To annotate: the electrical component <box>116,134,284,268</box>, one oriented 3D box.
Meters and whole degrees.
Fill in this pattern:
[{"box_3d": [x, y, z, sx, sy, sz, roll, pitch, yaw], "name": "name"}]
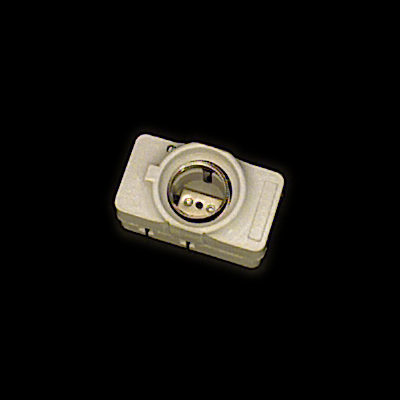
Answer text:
[{"box_3d": [0.000, 0.000, 0.636, 0.089, 0.050, 0.055, 16, -16, 4], "name": "electrical component"}]
